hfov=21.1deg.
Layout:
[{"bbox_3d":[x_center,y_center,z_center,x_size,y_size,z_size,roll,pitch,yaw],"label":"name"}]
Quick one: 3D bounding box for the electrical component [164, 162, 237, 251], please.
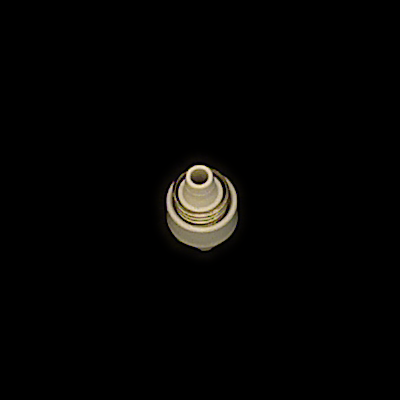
[{"bbox_3d":[0.000,0.000,0.634,0.043,0.043,0.062,0,-27,2],"label":"electrical component"}]
